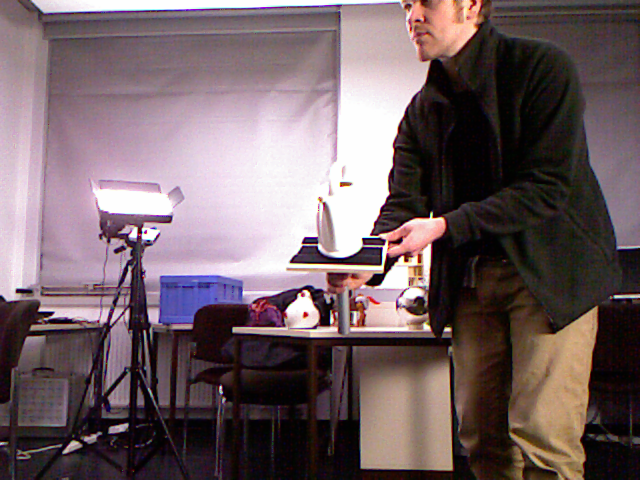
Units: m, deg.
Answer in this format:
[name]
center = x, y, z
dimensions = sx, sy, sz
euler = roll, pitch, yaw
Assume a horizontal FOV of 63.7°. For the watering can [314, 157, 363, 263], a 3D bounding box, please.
[watering can]
center = 0.033, -0.052, 1.086
dimensions = 0.104, 0.221, 0.354
euler = 2, 20, 12
